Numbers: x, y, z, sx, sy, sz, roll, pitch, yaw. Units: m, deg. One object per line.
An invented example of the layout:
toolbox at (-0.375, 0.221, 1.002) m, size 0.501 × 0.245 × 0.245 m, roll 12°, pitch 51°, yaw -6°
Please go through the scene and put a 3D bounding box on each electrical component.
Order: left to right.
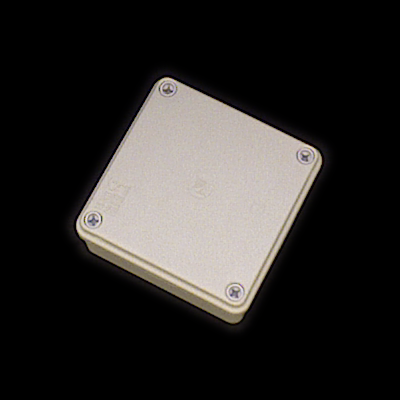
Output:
electrical component at (0.000, 0.000, 0.630) m, size 0.109 × 0.109 × 0.056 m, roll 26°, pitch -15°, yaw 7°
